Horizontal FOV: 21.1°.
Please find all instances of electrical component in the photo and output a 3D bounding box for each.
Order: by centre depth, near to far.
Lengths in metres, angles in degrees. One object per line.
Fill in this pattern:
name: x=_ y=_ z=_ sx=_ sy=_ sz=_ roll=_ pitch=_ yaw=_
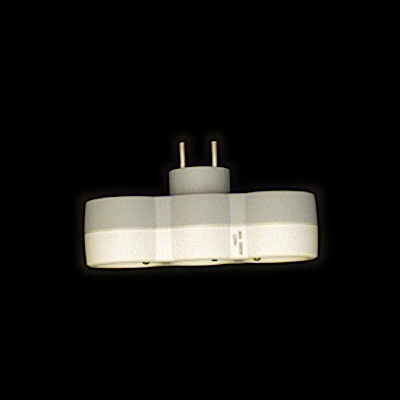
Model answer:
electrical component: x=0.000 y=0.000 z=0.640 sx=0.138 sy=0.074 sz=0.052 roll=-2 pitch=-7 yaw=0
